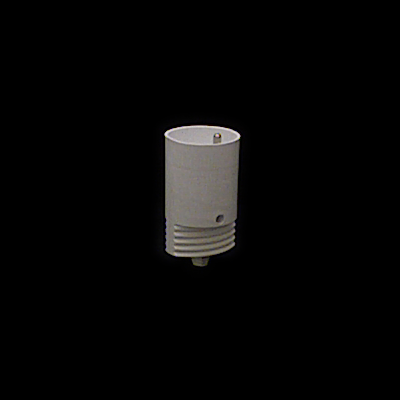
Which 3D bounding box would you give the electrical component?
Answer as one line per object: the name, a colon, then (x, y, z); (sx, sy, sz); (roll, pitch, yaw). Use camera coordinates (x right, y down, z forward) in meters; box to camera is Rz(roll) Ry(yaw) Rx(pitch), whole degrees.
electrical component: (0.000, 0.000, 0.637); (0.043, 0.082, 0.042); (2, 21, 0)
